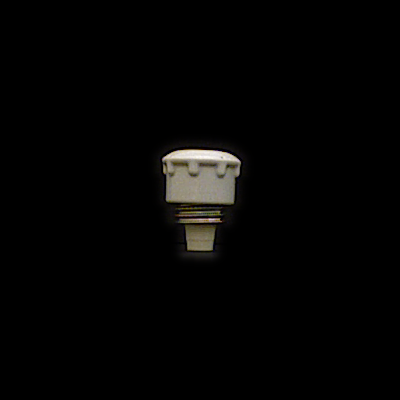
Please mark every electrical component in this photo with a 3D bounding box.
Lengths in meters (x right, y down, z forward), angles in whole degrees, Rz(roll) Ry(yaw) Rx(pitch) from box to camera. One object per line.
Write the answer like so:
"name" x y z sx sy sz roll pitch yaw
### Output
"electrical component" 0.000 0.000 0.657 0.048 0.062 0.048 2 2 1
